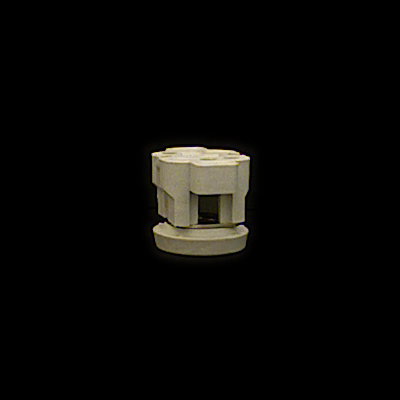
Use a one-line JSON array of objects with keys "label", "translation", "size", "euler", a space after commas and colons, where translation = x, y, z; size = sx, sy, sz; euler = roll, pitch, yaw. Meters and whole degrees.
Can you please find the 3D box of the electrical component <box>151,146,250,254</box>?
[{"label": "electrical component", "translation": [0.000, 0.000, 0.652], "size": [0.058, 0.057, 0.077], "euler": [-3, 11, -17]}]
